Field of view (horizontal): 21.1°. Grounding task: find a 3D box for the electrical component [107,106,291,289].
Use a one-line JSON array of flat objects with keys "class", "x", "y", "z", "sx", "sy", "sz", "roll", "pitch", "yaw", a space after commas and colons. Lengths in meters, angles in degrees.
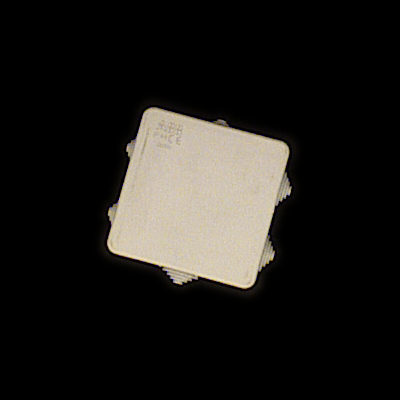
[{"class": "electrical component", "x": 0.000, "y": 0.000, "z": 0.642, "sx": 0.100, "sy": 0.100, "sz": 0.048, "roll": 15, "pitch": -6, "yaw": 2}]
